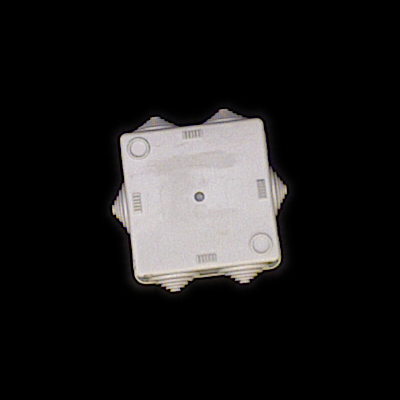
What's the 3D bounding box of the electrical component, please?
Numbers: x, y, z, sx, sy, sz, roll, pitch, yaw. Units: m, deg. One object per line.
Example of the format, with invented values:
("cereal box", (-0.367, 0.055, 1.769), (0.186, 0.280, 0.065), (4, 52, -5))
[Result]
("electrical component", (0.000, 0.000, 0.632), (0.100, 0.100, 0.048), (-7, -7, -1))
